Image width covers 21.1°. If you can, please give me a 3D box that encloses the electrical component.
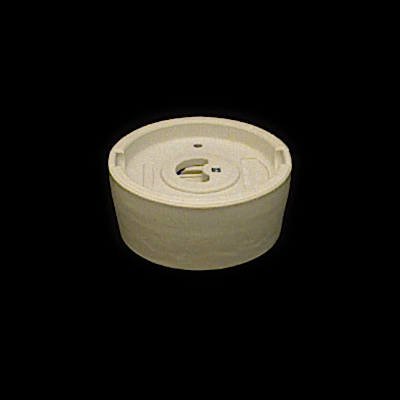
[{"bbox_3d":[0.000,0.000,0.644,0.108,0.061,0.106,1,32,0],"label":"electrical component"}]
